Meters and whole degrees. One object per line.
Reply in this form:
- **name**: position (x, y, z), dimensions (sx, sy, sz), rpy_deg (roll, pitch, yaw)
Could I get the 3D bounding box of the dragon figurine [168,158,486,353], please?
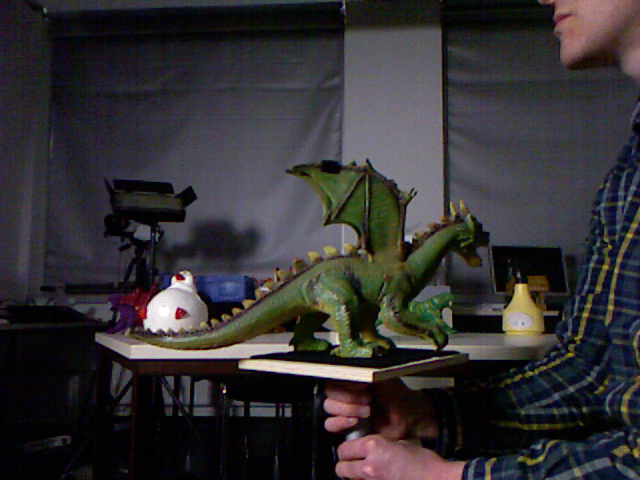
- **dragon figurine**: position (0.028, 0.019, 0.643), dimensions (0.411, 0.244, 0.121), rpy_deg (2, -6, -13)
